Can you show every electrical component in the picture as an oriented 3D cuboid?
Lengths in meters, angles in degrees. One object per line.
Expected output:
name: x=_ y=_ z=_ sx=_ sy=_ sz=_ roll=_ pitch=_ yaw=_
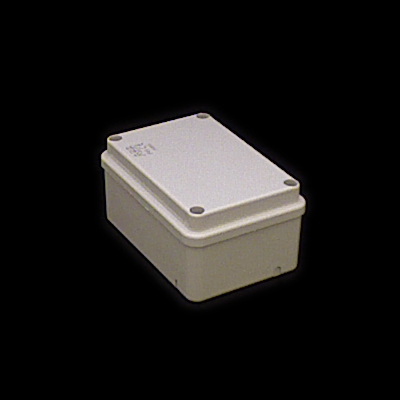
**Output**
electrical component: x=0.000 y=0.000 z=0.633 sx=0.078 sy=0.058 sz=0.111 roll=-17 pitch=36 yaw=-27
